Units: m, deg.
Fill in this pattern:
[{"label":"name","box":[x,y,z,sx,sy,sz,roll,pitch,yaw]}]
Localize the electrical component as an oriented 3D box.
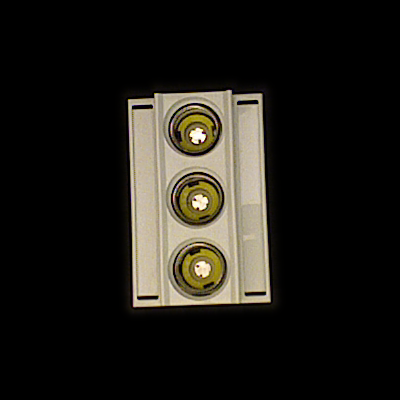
[{"label":"electrical component","box":[0.000,0.000,0.637,0.079,0.121,0.063,-2,-6,2]}]
